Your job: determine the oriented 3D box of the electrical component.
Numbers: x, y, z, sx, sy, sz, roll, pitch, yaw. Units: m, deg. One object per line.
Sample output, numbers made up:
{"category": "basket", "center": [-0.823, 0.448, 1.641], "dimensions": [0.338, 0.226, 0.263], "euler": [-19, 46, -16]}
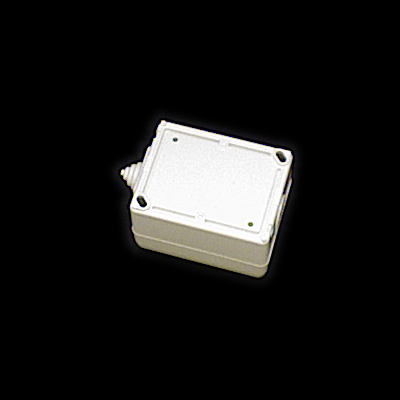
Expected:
{"category": "electrical component", "center": [0.000, 0.000, 0.626], "dimensions": [0.096, 0.062, 0.061], "euler": [14, -26, 7]}
